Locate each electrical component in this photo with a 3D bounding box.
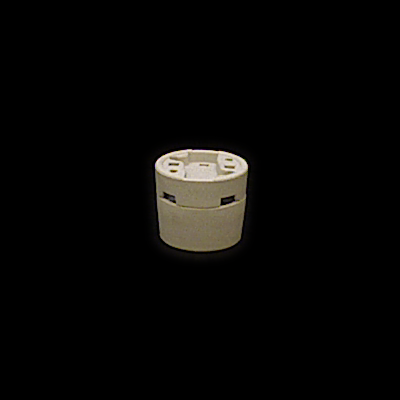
[{"bbox_3d":[0.000,0.000,0.641,0.055,0.047,0.055,1,21,0],"label":"electrical component"}]
